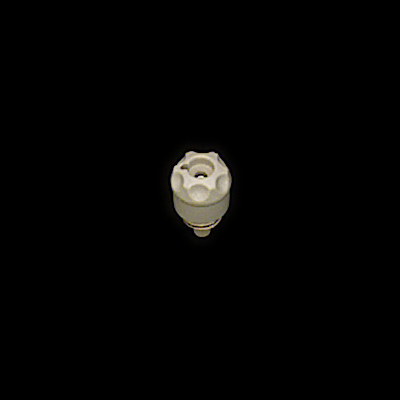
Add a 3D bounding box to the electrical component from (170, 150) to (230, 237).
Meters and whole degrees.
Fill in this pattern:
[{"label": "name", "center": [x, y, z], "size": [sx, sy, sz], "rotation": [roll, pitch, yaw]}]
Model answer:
[{"label": "electrical component", "center": [0.000, 0.000, 0.636], "size": [0.035, 0.035, 0.062], "rotation": [0, -37, 0]}]
